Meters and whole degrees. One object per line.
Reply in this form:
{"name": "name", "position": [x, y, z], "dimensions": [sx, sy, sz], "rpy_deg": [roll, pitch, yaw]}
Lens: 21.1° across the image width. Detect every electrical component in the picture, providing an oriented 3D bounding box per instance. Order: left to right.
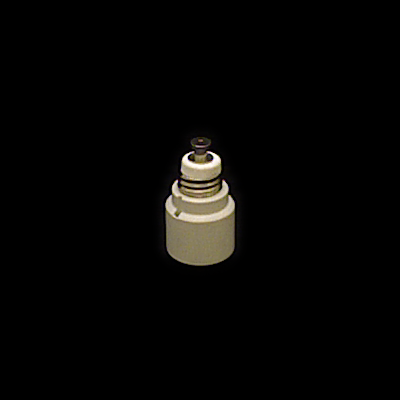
{"name": "electrical component", "position": [0.000, 0.000, 0.631], "dimensions": [0.040, 0.079, 0.039], "rpy_deg": [0, 32, 0]}
